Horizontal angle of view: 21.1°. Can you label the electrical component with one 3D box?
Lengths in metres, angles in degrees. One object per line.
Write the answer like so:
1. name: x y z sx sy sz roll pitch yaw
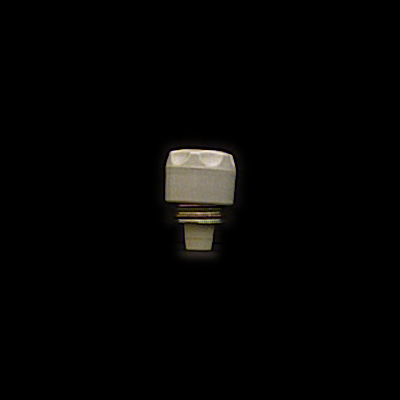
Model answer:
1. electrical component: 0.000 0.000 0.656 0.043 0.062 0.043 2 2 0
